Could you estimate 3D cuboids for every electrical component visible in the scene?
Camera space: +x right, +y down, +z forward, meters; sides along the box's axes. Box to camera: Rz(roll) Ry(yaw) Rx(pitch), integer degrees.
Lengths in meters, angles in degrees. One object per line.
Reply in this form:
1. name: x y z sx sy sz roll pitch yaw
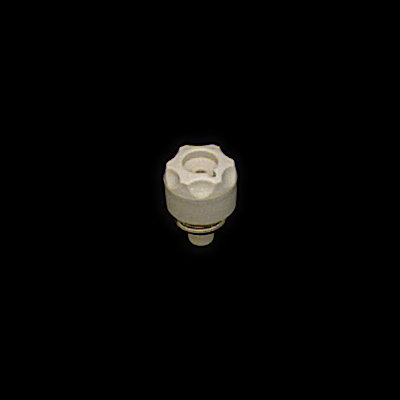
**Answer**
1. electrical component: 0.000 0.000 0.638 0.043 0.062 0.043 0 42 1
